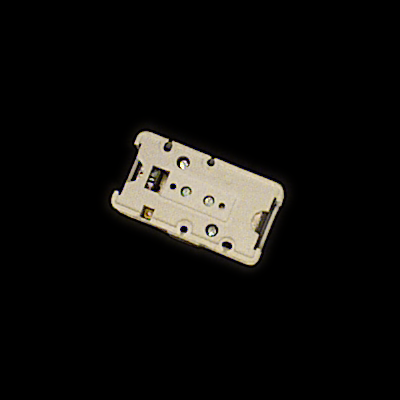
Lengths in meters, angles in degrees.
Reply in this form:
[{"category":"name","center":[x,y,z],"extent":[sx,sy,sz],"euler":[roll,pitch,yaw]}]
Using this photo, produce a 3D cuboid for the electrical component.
[{"category":"electrical component","center":[0.000,0.000,0.637],"extent":[0.089,0.050,0.055],"euler":[22,-4,3]}]
